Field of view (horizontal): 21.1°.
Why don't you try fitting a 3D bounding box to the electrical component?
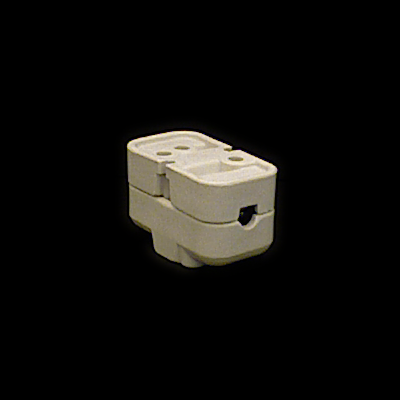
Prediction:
[{"bbox_3d":[0.000,0.000,0.643,0.054,0.060,0.093,-15,27,-34],"label":"electrical component"}]
